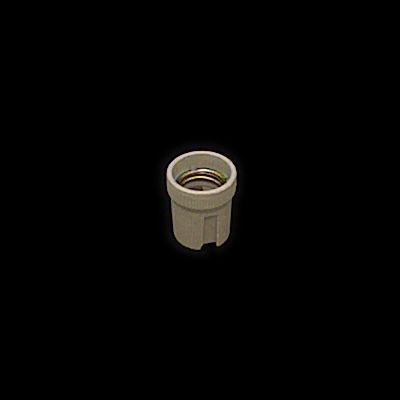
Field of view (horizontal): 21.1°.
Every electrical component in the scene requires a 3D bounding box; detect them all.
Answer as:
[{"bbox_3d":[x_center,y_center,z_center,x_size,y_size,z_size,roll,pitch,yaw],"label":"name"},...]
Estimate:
[{"bbox_3d":[0.000,0.000,0.635,0.040,0.047,0.039,1,42,0],"label":"electrical component"}]
